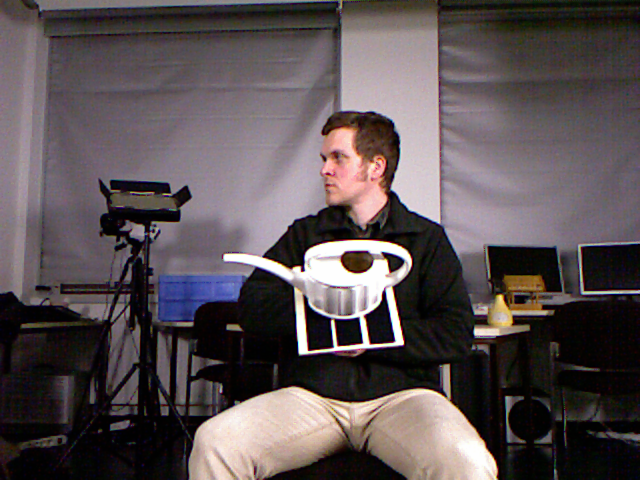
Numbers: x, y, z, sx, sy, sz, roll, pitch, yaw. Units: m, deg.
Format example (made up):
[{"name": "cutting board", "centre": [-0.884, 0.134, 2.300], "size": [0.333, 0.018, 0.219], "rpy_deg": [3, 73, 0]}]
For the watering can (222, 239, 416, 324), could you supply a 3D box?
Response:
[{"name": "watering can", "centre": [0.003, 0.071, 0.976], "size": [0.348, 0.107, 0.219], "rpy_deg": [-2, -37, -1]}]
